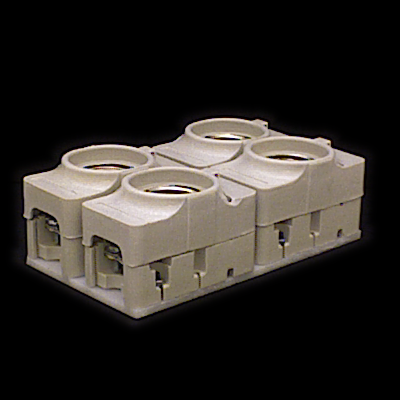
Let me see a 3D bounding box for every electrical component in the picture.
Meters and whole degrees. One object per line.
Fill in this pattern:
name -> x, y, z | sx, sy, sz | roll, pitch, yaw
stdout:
electrical component -> 0.000, 0.000, 0.639 | 0.186, 0.061, 0.104 | -16, 27, -40
